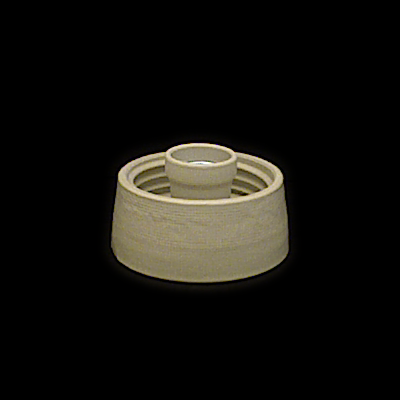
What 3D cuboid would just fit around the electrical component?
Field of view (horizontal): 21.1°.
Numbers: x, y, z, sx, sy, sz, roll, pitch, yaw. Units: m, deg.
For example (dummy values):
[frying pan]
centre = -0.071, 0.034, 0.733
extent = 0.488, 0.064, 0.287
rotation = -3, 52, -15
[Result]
[electrical component]
centre = 0.000, 0.000, 0.644
extent = 0.108, 0.061, 0.106
rotation = 1, 22, 0
